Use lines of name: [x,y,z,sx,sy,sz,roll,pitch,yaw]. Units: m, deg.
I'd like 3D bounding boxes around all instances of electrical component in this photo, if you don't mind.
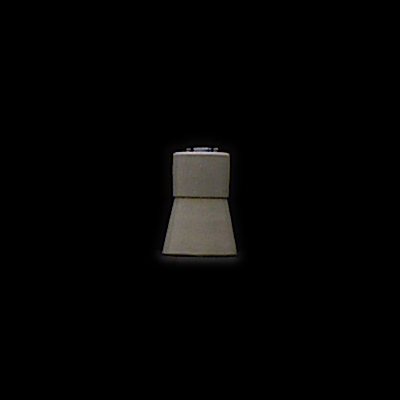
electrical component: [0.000,0.000,0.649,0.044,0.065,0.044,1,2,0]
